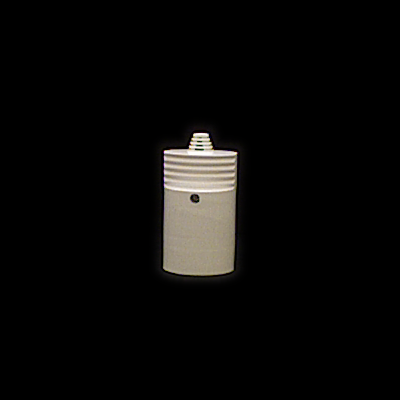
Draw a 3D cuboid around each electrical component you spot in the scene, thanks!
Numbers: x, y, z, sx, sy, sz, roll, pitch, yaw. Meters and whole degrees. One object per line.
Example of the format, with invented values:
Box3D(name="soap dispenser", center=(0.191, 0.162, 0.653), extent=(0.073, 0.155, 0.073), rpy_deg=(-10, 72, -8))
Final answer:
Box3D(name="electrical component", center=(0.000, 0.000, 0.642), extent=(0.043, 0.081, 0.043), rpy_deg=(1, 11, 0))
